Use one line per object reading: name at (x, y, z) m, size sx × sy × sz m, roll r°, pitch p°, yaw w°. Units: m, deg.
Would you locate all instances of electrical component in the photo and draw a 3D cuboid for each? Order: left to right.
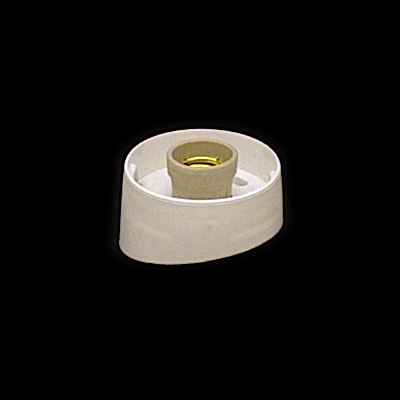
electrical component at (0.000, 0.000, 0.633) m, size 0.099 × 0.065 × 0.097 m, roll 0°, pitch 31°, yaw 0°
